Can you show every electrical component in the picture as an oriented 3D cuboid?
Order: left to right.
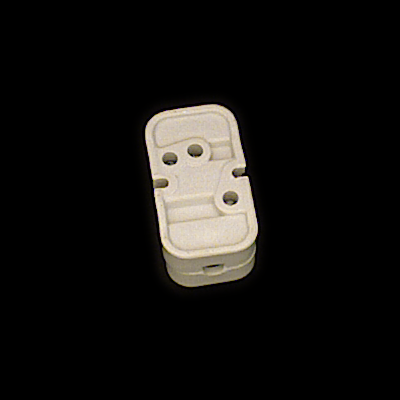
[{"bbox_3d":[0.000,0.000,0.634,0.054,0.095,0.059,-8,-26,-4],"label":"electrical component"}]
